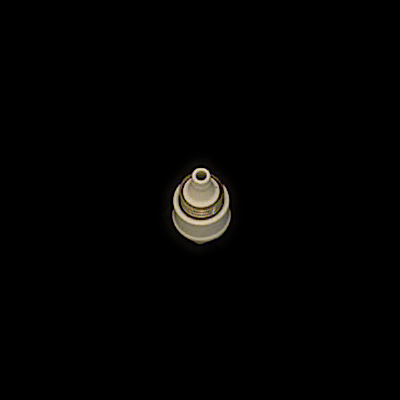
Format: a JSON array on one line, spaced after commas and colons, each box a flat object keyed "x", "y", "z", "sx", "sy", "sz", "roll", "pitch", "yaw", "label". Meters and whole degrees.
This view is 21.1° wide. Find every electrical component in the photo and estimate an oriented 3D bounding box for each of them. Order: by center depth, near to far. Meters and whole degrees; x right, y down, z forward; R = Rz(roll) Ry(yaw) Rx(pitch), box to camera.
[{"x": 0.000, "y": 0.000, "z": 0.637, "sx": 0.035, "sy": 0.035, "sz": 0.061, "roll": 0, "pitch": -28, "yaw": 0, "label": "electrical component"}]
